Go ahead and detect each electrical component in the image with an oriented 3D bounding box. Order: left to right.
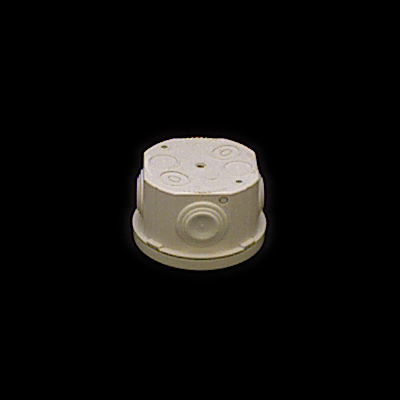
[{"bbox_3d":[0.000,0.000,0.637,0.080,0.051,0.079,1,32,-1],"label":"electrical component"}]
